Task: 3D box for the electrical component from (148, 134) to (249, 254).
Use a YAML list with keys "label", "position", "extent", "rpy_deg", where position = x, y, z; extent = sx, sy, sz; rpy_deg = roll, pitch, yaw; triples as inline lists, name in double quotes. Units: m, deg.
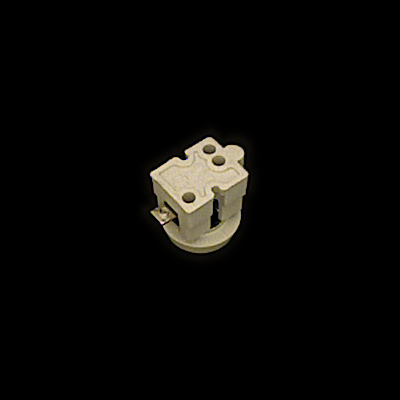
- label: "electrical component"
  position: [0.000, 0.000, 0.639]
  extent: [0.067, 0.048, 0.056]
  rpy_deg: [-32, -29, -21]
